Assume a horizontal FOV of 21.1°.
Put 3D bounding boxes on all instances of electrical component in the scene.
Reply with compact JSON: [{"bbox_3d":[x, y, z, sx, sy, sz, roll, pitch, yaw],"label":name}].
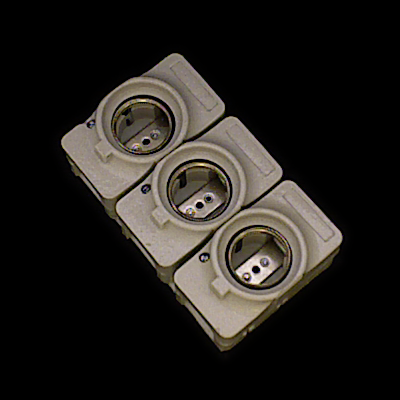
[{"bbox_3d":[0.000,0.000,0.631,0.090,0.150,0.062,-39,-14,-10],"label":"electrical component"}]
